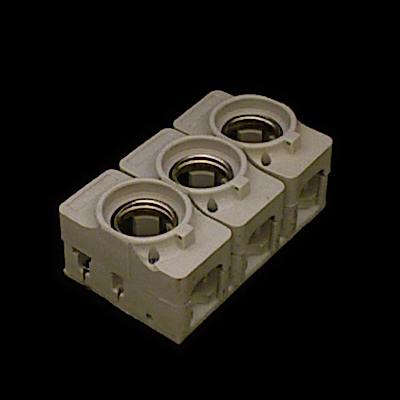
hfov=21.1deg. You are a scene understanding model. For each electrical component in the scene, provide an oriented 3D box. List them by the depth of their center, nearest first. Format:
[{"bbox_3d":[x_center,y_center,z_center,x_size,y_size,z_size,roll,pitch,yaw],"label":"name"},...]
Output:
[{"bbox_3d":[0.000,0.000,0.636,0.089,0.063,0.148,28,49,26],"label":"electrical component"}]
